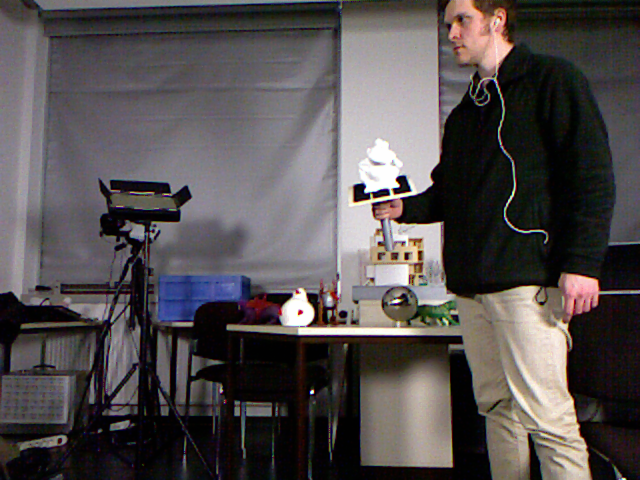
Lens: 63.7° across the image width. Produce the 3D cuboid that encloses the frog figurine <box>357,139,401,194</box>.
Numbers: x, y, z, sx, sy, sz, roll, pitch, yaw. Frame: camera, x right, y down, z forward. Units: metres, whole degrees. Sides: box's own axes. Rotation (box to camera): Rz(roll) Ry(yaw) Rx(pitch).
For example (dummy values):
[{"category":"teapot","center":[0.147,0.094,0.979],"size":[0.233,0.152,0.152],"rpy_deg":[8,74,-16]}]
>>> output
[{"category":"frog figurine","center":[0.178,-0.236,1.588],"size":[0.137,0.157,0.125],"rpy_deg":[-2,23,24]}]
